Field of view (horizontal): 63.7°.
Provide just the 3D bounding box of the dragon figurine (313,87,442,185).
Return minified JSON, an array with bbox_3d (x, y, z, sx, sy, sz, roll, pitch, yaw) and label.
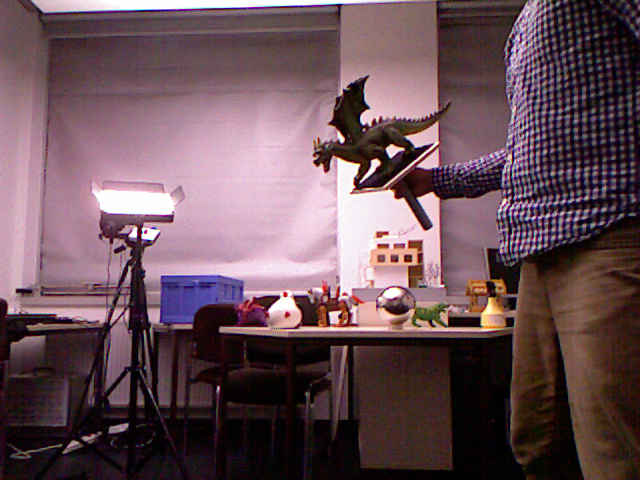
[{"bbox_3d":[0.142,-0.304,1.397,0.415,0.240,0.123,-44,22,-17],"label":"dragon figurine"}]
